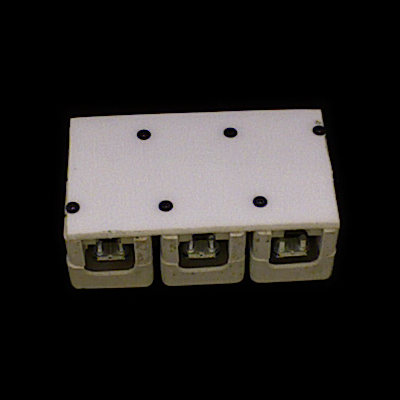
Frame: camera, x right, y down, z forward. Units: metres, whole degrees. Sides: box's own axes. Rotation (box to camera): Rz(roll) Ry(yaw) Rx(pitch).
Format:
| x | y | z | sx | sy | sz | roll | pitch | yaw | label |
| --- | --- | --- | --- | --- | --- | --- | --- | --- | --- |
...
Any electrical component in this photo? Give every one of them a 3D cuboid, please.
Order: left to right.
| x | y | z | sx | sy | sz | roll | pitch | yaw | label |
| --- | --- | --- | --- | --- | --- | --- | --- | --- | --- |
| 0.000 | 0.000 | 0.632 | 0.150 | 0.088 | 0.062 | -2 | -38 | -2 | electrical component |
